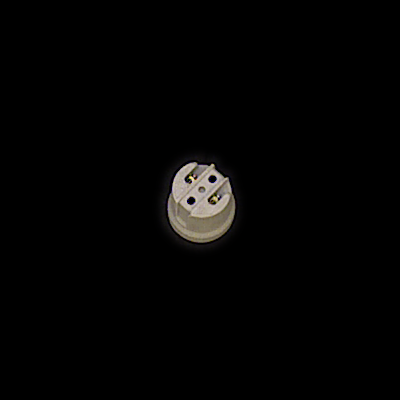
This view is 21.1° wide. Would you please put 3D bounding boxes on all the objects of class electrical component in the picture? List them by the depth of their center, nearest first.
[{"bbox_3d":[0.000,0.000,0.633,0.040,0.040,0.046,0,-16,0],"label":"electrical component"}]
